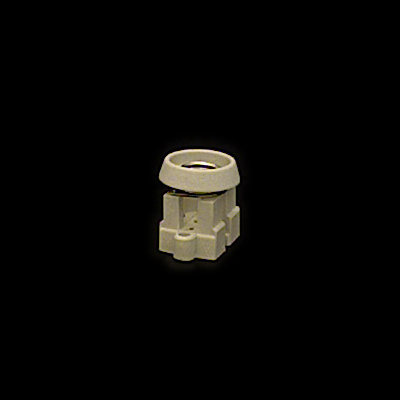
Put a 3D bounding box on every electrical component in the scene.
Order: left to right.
[{"bbox_3d":[0.000,0.000,0.648,0.048,0.056,0.066,11,24,18],"label":"electrical component"}]
